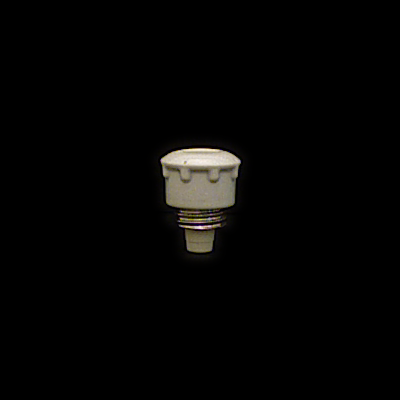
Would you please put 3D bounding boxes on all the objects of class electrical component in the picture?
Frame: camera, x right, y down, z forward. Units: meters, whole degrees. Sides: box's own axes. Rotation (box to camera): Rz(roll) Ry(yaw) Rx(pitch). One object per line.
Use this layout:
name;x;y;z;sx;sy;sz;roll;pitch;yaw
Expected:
electrical component;0.000;0.000;0.649;0.048;0.062;0.048;1;11;0
